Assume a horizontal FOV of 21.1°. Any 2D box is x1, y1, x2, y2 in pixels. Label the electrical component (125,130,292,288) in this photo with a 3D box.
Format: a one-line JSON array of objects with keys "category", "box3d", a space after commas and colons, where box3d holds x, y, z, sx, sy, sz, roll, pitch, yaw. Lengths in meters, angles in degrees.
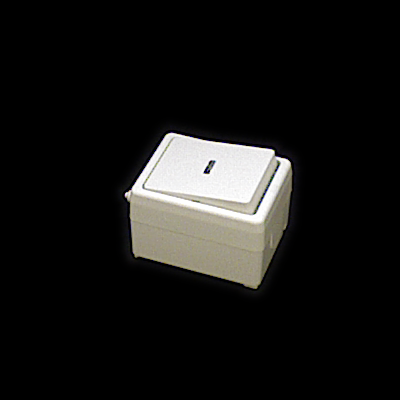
[{"category": "electrical component", "box3d": [0.000, 0.000, 0.631, 0.096, 0.061, 0.061, 14, 43, 14]}]
